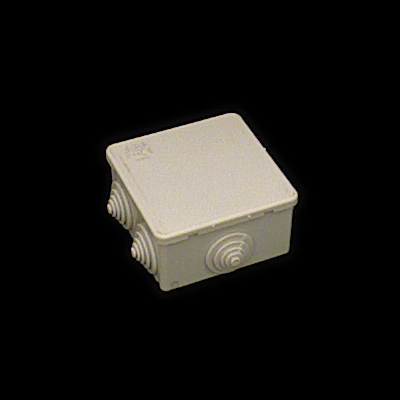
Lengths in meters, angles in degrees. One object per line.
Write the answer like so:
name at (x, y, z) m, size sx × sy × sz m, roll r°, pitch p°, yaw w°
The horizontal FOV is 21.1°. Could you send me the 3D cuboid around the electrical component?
electrical component at (0.000, 0.000, 0.642) m, size 0.100 × 0.049 × 0.098 m, roll -16°, pitch 46°, yaw -18°
